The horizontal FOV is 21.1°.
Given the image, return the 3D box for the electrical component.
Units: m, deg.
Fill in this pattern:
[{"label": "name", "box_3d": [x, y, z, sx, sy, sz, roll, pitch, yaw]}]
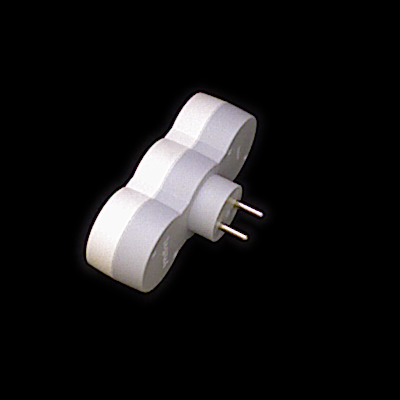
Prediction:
[{"label": "electrical component", "box_3d": [0.000, 0.000, 0.633, 0.073, 0.138, 0.052, 26, -34, 16]}]
